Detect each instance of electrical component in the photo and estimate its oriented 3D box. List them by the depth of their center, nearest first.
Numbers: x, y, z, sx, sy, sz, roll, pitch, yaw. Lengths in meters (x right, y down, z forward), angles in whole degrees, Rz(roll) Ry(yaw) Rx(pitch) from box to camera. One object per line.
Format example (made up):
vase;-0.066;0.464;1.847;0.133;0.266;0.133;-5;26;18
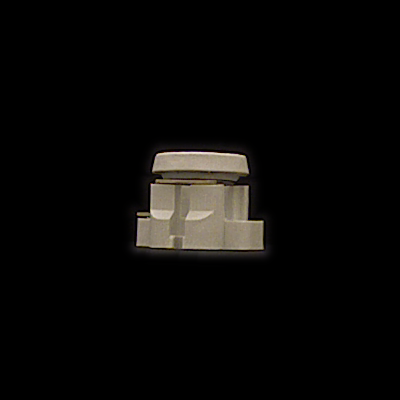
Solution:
electrical component;0.000;0.000;0.649;0.078;0.057;0.058;2;1;29
